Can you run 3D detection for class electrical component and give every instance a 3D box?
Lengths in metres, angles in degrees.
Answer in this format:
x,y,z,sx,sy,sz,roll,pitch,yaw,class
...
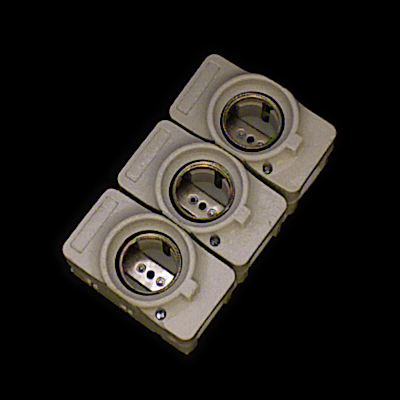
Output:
x,y,z,sx,sy,sz,roll,pitch,yaw,class
0.000,0.000,0.631,0.089,0.150,0.062,34,-13,9,electrical component
